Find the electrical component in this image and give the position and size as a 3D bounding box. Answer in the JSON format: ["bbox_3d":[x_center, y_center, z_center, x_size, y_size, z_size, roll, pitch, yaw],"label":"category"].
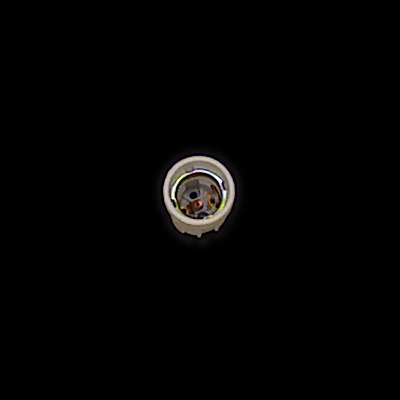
[{"bbox_3d":[0.000,0.000,0.626,0.040,0.040,0.046,0,-17,0],"label":"electrical component"}]
